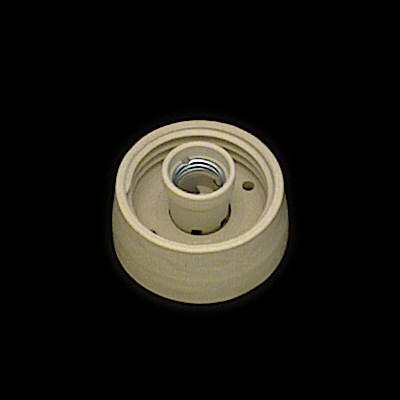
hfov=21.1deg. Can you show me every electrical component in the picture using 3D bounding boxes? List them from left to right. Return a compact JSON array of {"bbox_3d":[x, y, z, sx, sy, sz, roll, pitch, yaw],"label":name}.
[{"bbox_3d":[0.000,0.000,0.635,0.108,0.107,0.060,0,-37,0],"label":"electrical component"}]
